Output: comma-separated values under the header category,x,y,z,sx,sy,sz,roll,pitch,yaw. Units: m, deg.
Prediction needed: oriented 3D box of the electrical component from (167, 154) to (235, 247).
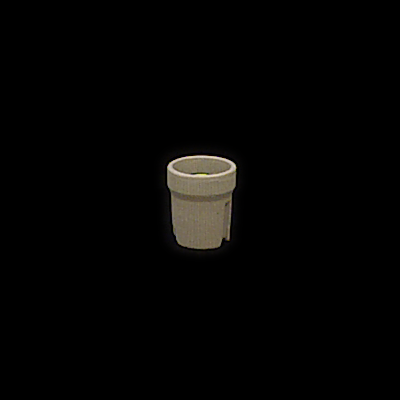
category,x,y,z,sx,sy,sz,roll,pitch,yaw
electrical component,0.000,0.000,0.641,0.040,0.047,0.039,1,21,0
